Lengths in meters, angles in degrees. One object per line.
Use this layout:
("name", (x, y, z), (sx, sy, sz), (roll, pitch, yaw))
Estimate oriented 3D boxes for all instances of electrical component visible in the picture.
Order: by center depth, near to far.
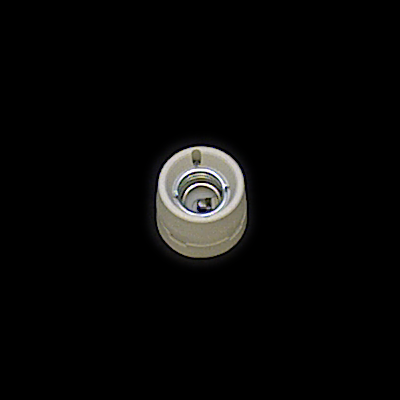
("electrical component", (0.000, 0.000, 0.632), (0.055, 0.056, 0.047), (0, -26, 0))
